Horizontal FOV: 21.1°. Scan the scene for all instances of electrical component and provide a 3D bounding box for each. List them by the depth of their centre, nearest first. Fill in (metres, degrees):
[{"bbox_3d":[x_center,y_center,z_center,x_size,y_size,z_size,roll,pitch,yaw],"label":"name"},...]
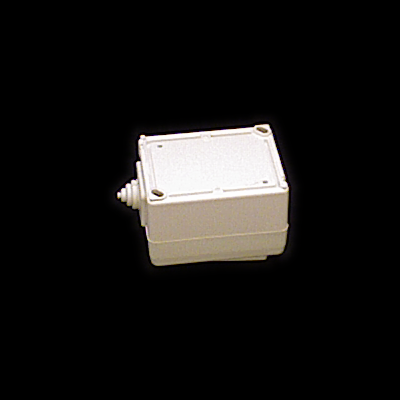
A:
[{"bbox_3d":[0.000,0.000,0.633,0.096,0.061,0.061,-5,42,-6],"label":"electrical component"}]
